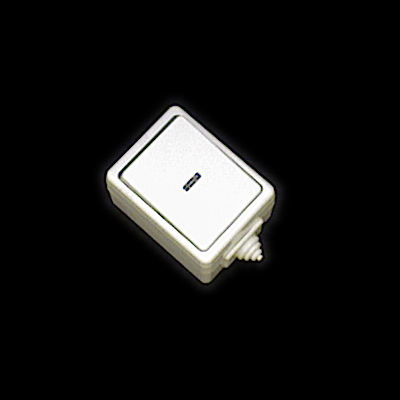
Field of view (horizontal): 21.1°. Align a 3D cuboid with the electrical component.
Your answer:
[{"bbox_3d":[0.000,0.000,0.625,0.096,0.062,0.060,41,-13,11],"label":"electrical component"}]
